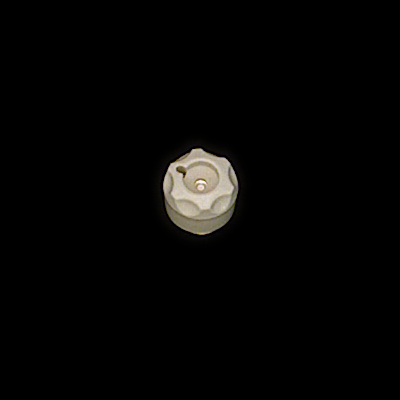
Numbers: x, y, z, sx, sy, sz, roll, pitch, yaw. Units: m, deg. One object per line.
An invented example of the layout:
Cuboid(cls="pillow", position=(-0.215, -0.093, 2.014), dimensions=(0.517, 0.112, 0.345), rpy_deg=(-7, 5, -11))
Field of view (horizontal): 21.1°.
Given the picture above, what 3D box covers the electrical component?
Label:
Cuboid(cls="electrical component", position=(0.000, 0.000, 0.634), dimensions=(0.043, 0.043, 0.062), rpy_deg=(0, -27, -1))
